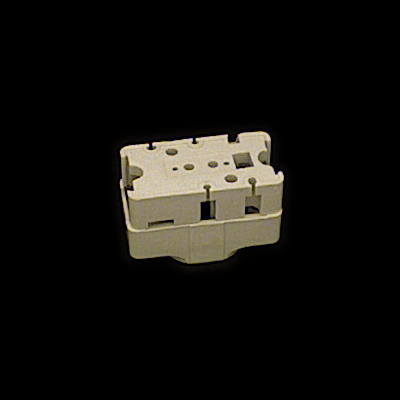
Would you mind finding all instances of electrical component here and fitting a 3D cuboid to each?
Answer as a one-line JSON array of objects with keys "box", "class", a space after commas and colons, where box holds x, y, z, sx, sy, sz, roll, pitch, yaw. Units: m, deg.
[{"box": [0.000, 0.000, 0.640, 0.090, 0.056, 0.049, -6, 42, -8], "class": "electrical component"}]
